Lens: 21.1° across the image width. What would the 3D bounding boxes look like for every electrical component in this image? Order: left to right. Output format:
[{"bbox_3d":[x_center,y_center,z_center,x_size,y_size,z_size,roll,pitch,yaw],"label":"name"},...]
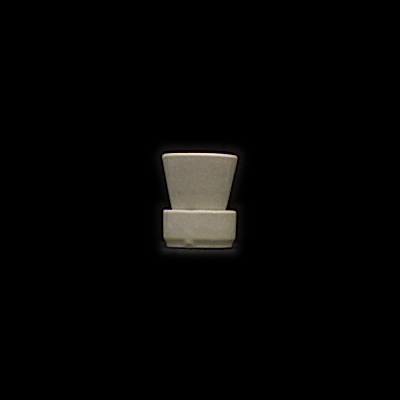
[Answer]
[{"bbox_3d":[0.000,0.000,0.648,0.045,0.055,0.045,1,0,0],"label":"electrical component"}]
